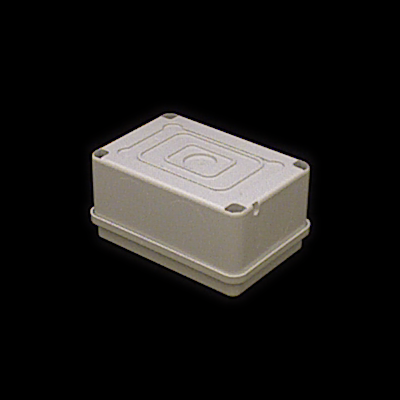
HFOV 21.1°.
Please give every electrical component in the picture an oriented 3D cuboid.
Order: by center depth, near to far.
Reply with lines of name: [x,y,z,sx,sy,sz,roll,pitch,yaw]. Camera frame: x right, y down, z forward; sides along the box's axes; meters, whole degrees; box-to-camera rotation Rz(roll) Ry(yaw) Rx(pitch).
electrical component: [0.000,0.000,0.635,0.112,0.058,0.078,22,37,32]
